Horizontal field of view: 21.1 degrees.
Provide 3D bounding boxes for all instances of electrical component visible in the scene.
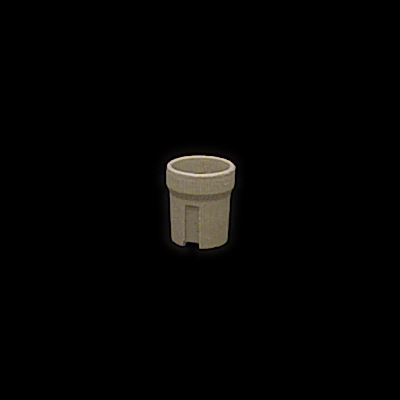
[{"bbox_3d":[0.000,0.000,0.642,0.040,0.047,0.039,1,21,0],"label":"electrical component"}]
